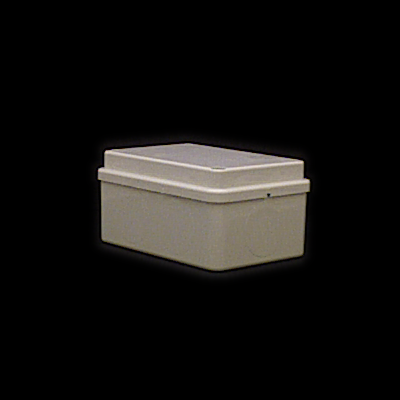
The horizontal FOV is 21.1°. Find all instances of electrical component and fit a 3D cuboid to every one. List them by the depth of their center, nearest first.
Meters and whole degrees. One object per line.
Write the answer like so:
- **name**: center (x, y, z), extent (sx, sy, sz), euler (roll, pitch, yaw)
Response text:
- **electrical component**: center (0.000, 0.000, 0.646), extent (0.078, 0.057, 0.112), euler (-8, 14, -41)
